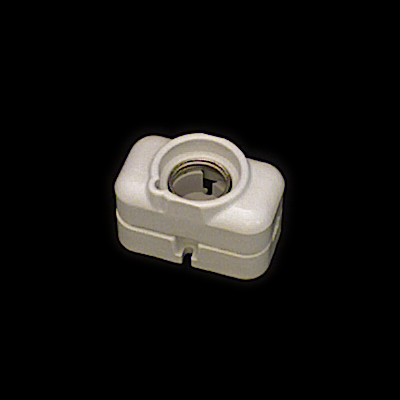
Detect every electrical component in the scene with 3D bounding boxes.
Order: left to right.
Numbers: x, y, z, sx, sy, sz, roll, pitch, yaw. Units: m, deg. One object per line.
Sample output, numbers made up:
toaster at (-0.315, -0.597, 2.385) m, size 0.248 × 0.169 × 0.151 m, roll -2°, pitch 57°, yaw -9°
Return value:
electrical component at (0.000, 0.000, 0.634) m, size 0.095 × 0.053 × 0.059 m, roll 14°, pitch -36°, yaw 10°
